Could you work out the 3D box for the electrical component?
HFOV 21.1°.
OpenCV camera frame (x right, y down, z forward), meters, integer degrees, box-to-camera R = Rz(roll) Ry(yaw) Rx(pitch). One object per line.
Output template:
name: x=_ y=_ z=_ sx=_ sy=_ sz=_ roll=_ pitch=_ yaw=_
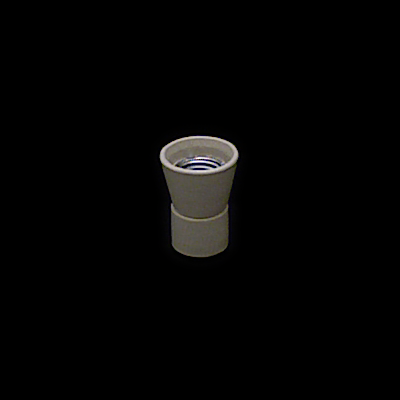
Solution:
electrical component: x=0.000 y=0.000 z=0.632 sx=0.044 sy=0.066 sz=0.044 roll=0 pitch=32 yaw=0
